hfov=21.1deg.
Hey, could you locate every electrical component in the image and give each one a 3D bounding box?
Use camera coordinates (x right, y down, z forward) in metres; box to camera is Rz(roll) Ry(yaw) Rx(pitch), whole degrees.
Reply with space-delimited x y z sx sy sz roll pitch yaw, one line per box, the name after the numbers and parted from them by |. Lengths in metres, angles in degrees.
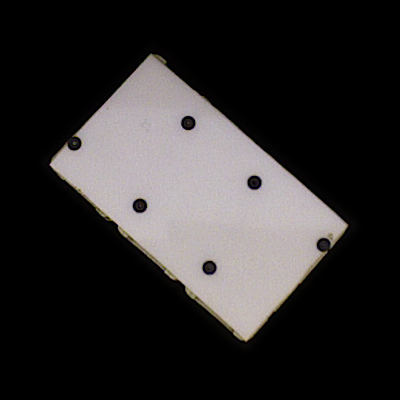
0.000 0.000 0.631 0.150 0.090 0.061 42 -5 4 | electrical component
